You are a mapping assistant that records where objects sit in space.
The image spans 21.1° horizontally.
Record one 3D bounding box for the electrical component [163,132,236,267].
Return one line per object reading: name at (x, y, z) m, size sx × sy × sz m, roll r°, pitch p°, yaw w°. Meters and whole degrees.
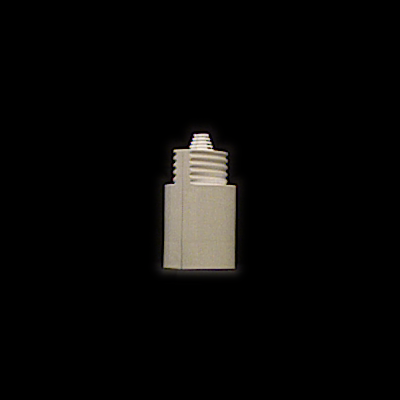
electrical component at (0.000, 0.000, 0.650) m, size 0.043 × 0.081 × 0.043 m, roll 1°, pitch 1°, yaw 0°
